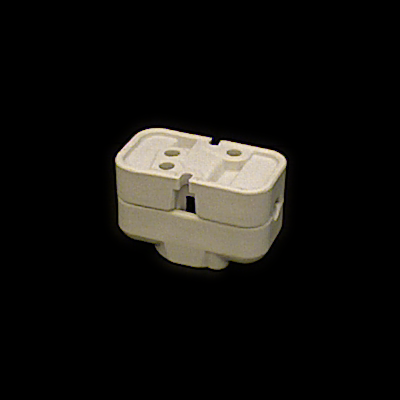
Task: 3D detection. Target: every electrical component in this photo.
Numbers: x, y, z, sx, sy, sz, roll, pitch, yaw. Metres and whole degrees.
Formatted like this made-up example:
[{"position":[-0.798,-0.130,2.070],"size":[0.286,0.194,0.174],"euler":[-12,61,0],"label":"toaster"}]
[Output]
[{"position":[0.000,0.000,0.639],"size":[0.094,0.060,0.053],"euler":[12,34,16],"label":"electrical component"}]
